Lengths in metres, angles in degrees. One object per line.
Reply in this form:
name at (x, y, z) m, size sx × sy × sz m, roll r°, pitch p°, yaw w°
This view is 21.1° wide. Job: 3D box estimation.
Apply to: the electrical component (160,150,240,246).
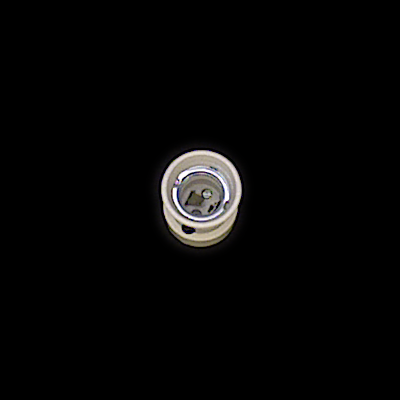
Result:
electrical component at (0.000, 0.000, 0.628) m, size 0.045 × 0.045 × 0.055 m, roll 0°, pitch -16°, yaw 0°
